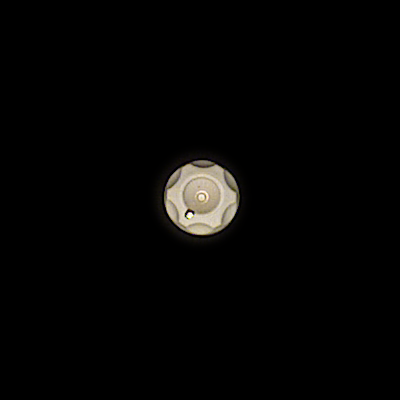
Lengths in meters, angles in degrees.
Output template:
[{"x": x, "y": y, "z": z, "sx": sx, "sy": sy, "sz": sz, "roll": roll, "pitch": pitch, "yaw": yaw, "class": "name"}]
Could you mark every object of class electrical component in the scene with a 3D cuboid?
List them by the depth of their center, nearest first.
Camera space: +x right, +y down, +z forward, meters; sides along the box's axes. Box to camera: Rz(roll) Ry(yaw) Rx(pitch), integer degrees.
[{"x": 0.000, "y": 0.000, "z": 0.635, "sx": 0.043, "sy": 0.043, "sz": 0.062, "roll": 0, "pitch": -6, "yaw": 1, "class": "electrical component"}]
